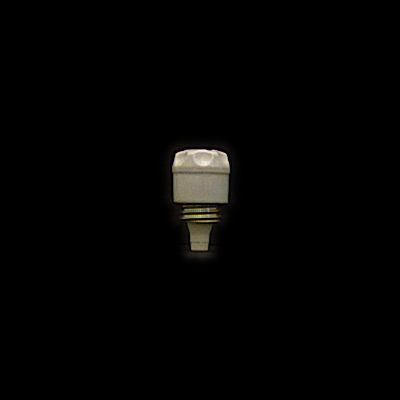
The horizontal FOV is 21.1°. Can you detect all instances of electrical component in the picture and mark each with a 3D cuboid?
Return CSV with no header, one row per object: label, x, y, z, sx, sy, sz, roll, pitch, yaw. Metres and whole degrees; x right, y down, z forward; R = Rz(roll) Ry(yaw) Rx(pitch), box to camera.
electrical component,0.000,0.000,0.655,0.035,0.061,0.035,1,2,0
